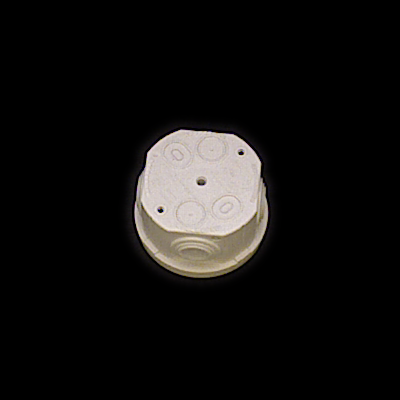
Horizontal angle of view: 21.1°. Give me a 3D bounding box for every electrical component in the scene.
[{"bbox_3d":[0.000,0.000,0.632,0.080,0.080,0.050,0,-28,-1],"label":"electrical component"}]
